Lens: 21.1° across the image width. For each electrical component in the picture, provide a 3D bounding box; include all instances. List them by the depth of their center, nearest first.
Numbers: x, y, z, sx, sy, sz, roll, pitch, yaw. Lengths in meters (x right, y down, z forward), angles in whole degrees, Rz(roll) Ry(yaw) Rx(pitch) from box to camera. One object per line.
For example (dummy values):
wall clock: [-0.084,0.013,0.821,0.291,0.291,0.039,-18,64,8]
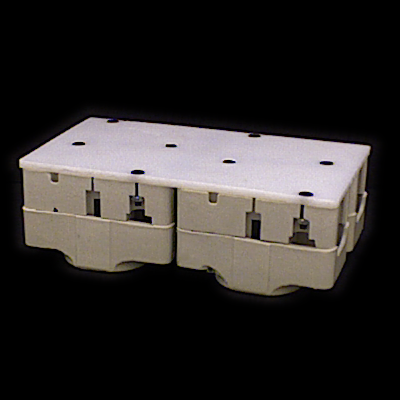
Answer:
electrical component: [0.000,0.000,0.639,0.186,0.061,0.104,7,22,16]
